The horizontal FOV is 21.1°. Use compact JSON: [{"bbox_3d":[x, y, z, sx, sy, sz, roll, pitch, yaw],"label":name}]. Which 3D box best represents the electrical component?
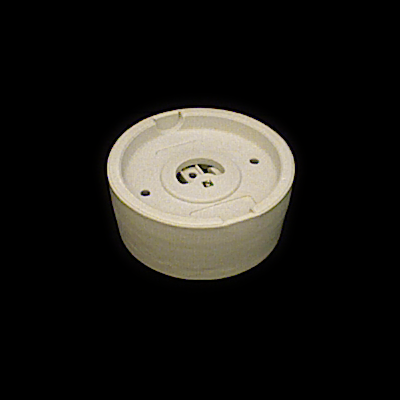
[{"bbox_3d":[0.000,0.000,0.636,0.108,0.061,0.107,1,42,0],"label":"electrical component"}]
